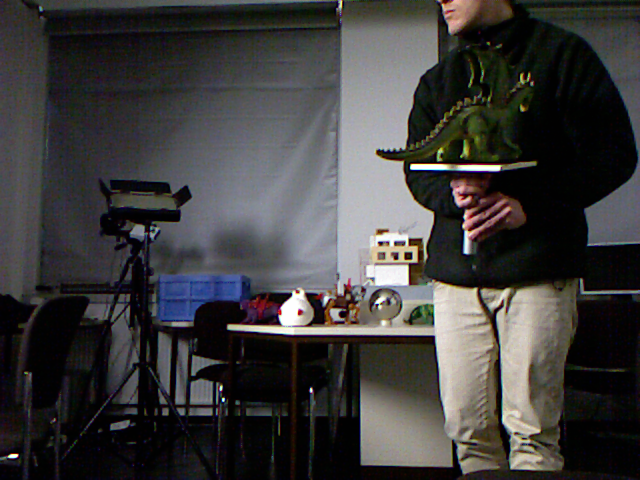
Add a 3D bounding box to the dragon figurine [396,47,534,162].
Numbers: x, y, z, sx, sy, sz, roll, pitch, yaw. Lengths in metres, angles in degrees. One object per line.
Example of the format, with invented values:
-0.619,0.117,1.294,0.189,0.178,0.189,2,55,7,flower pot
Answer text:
0.337,-0.295,1.128,0.413,0.240,0.123,-9,19,-34,dragon figurine
